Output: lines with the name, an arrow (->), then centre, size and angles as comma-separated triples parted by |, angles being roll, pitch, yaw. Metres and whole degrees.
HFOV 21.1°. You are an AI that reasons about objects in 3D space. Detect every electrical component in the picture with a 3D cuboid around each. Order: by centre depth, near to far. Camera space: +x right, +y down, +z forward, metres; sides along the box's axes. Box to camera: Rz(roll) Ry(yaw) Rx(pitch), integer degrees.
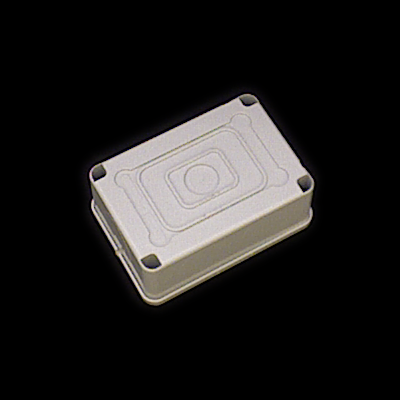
electrical component -> 0.000, 0.000, 0.628 | 0.113, 0.078, 0.057 | -27, -24, -13
